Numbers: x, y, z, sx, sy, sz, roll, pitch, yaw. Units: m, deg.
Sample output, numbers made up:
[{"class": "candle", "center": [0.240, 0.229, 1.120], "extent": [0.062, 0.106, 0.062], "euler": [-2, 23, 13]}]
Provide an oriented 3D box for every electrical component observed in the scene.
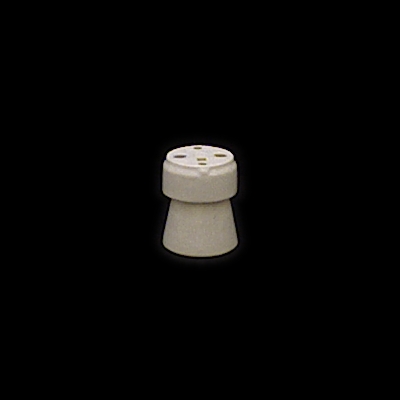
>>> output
[{"class": "electrical component", "center": [0.000, 0.000, 0.639], "extent": [0.045, 0.056, 0.044], "euler": [1, 21, 0]}]
